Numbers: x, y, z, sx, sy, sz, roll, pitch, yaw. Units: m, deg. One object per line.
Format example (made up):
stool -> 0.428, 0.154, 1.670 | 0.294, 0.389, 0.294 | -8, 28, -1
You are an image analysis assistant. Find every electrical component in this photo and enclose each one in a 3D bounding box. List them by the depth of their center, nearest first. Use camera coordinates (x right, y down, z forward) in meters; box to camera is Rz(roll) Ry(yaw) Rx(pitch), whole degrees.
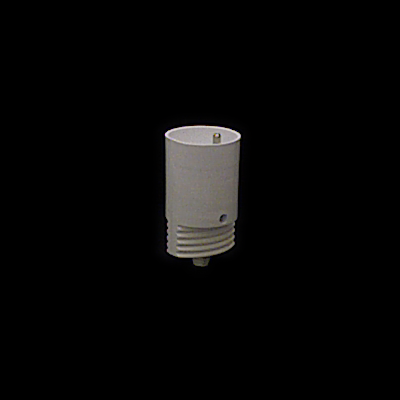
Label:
electrical component -> 0.000, 0.000, 0.637 | 0.043, 0.082, 0.042 | 2, 21, 0
